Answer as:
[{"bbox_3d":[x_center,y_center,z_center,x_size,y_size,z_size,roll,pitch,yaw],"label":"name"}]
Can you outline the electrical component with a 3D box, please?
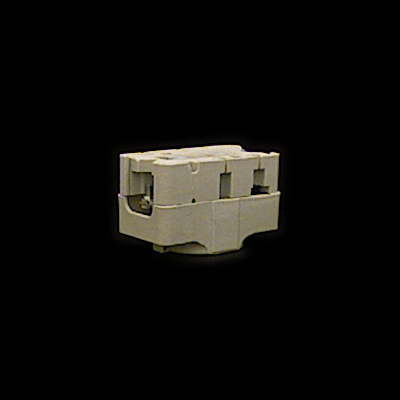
[{"bbox_3d":[0.000,0.000,0.651,0.090,0.056,0.049,-8,16,-38],"label":"electrical component"}]
